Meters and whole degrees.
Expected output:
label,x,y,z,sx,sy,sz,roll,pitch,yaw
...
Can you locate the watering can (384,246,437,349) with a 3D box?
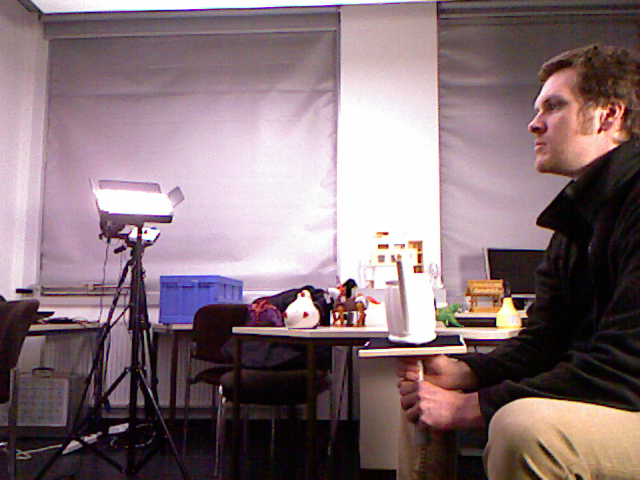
label,x,y,z,sx,sy,sz,roll,pitch,yaw
watering can,0.181,0.124,1.064,0.104,0.225,0.347,-6,-3,12
